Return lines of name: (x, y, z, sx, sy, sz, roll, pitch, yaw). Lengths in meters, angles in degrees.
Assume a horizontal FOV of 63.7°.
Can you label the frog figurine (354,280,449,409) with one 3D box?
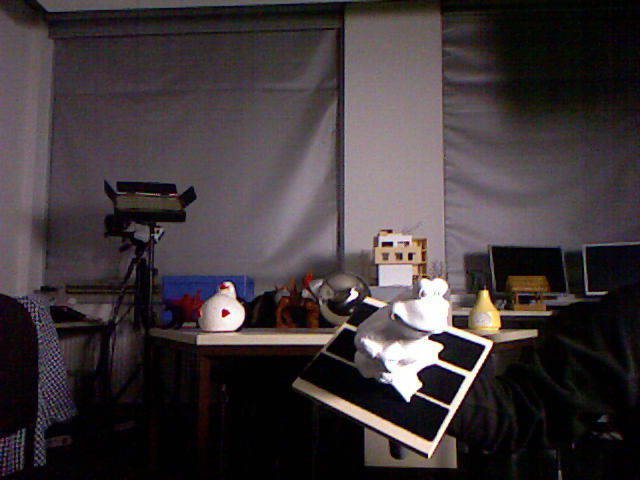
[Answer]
frog figurine: (0.102, 0.112, 0.661, 0.139, 0.156, 0.124, -28, 41, -26)
